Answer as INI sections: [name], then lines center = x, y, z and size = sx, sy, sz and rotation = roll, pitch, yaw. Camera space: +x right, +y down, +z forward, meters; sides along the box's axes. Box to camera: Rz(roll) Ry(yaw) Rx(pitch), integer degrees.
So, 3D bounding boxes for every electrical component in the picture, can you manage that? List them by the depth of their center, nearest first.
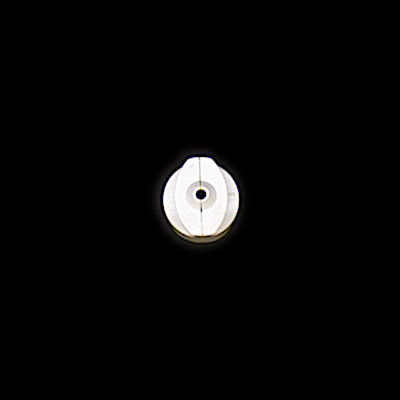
[electrical component]
center = 0.000, 0.000, 0.616
size = 0.043, 0.043, 0.080
rotation = 0, -6, 1
